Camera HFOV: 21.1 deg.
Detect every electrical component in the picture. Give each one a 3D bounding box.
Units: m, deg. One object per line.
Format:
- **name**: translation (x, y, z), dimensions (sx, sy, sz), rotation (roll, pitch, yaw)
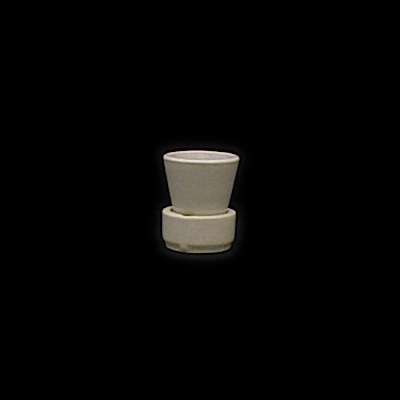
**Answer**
- **electrical component**: translation (0.000, 0.000, 0.645), dimensions (0.045, 0.055, 0.044), rotation (2, 12, 0)
